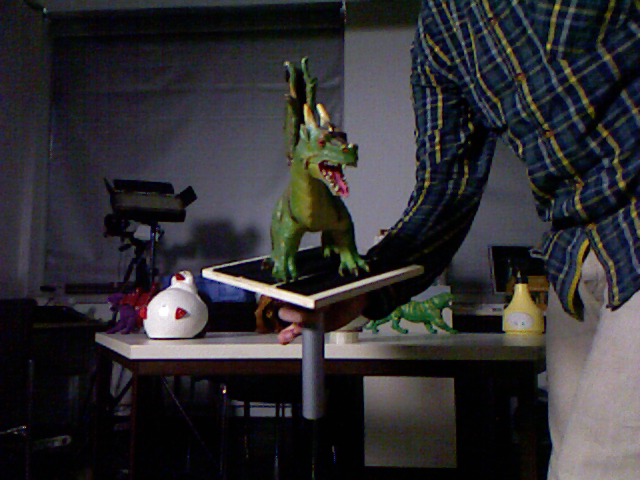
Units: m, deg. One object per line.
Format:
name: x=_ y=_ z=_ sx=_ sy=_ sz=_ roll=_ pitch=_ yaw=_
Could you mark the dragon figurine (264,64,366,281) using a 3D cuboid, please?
dragon figurine: x=-0.016 y=-0.094 z=0.643 sx=0.122 sy=0.240 sz=0.415 roll=-4 pitch=16 yaw=-9
